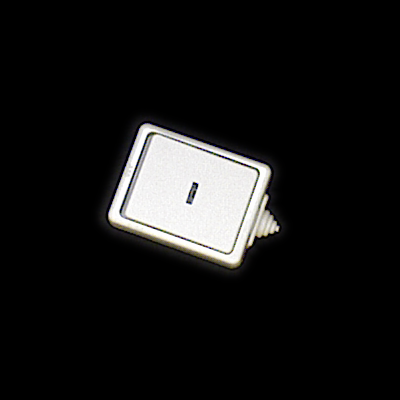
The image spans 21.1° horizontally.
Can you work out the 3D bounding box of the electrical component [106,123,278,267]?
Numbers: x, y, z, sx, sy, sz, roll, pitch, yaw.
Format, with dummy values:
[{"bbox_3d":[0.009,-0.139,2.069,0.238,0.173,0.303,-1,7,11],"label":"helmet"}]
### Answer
[{"bbox_3d":[0.000,0.000,0.626,0.096,0.062,0.061,19,-6,3],"label":"electrical component"}]
